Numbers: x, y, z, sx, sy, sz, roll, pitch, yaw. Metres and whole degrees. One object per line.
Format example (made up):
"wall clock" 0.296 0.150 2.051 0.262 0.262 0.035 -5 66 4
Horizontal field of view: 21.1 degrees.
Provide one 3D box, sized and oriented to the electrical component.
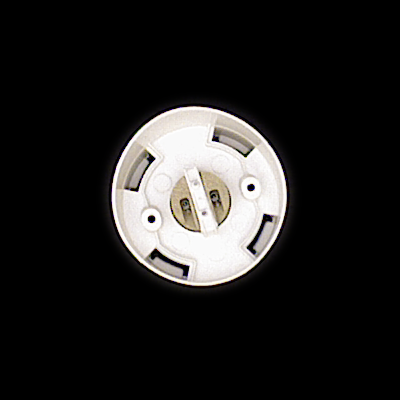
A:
"electrical component" 0.000 0.000 0.624 0.099 0.099 0.064 0 -7 1
